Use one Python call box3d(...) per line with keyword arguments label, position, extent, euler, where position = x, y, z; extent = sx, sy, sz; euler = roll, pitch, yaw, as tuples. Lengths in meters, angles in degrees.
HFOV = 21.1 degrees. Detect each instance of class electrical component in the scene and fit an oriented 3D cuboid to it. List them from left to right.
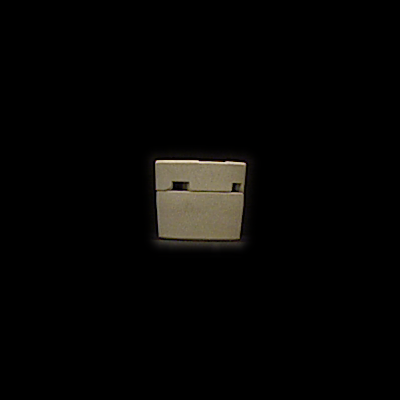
box3d(label="electrical component", position=(0.000, 0.000, 0.649), extent=(0.055, 0.047, 0.055), euler=(1, 1, 0))
